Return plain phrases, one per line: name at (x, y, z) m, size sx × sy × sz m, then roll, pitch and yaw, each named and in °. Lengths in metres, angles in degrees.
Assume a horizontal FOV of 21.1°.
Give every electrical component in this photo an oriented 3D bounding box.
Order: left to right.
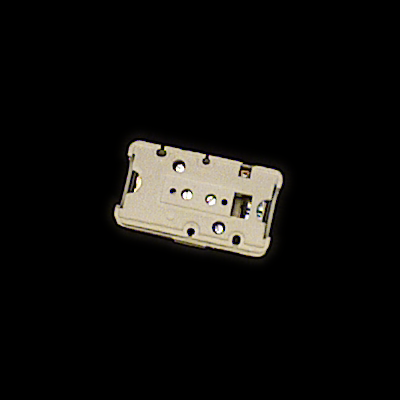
electrical component at (0.000, 0.000, 0.637) m, size 0.089 × 0.050 × 0.055 m, roll 12°, pitch -6°, yaw 1°
